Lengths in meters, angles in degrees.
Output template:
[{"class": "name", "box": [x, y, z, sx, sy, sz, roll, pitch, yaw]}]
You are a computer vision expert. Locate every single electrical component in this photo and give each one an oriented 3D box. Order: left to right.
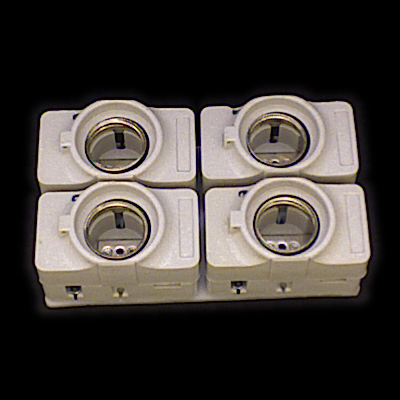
[{"class": "electrical component", "box": [0.000, 0.000, 0.625, 0.186, 0.106, 0.060, -2, -27, -1]}]
